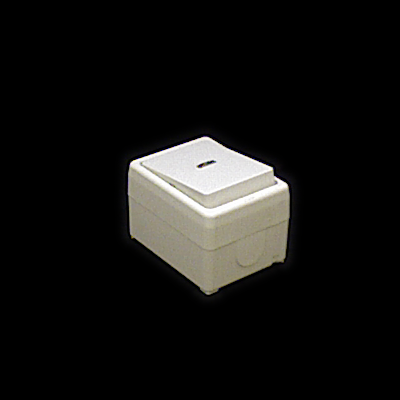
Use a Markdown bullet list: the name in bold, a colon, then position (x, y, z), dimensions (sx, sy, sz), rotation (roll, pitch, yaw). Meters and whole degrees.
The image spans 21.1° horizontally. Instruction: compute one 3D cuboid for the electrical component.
- **electrical component**: position (0.000, 0.000, 0.636), dimensions (0.061, 0.061, 0.095), rotation (-21, 38, -32)
